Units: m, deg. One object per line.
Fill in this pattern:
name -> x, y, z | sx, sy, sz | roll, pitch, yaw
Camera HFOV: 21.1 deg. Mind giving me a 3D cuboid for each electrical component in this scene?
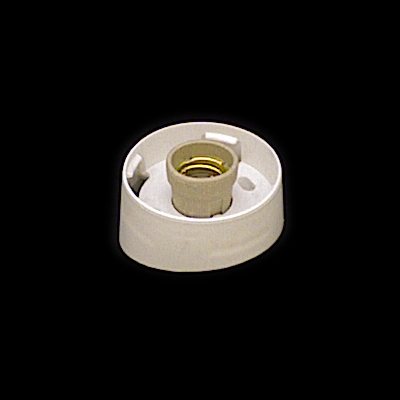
electrical component -> 0.000, 0.000, 0.629 | 0.099, 0.065, 0.098 | 0, 41, 0
